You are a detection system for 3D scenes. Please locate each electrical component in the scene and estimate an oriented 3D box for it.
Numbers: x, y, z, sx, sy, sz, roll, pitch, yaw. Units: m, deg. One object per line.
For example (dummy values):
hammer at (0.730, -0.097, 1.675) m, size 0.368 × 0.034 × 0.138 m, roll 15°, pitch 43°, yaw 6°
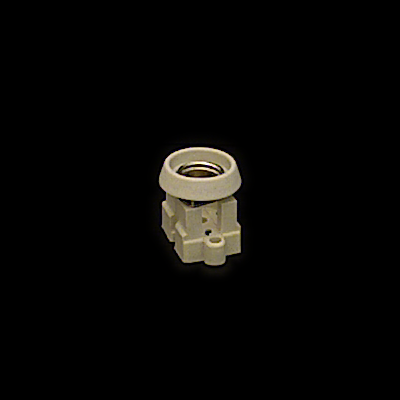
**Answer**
electrical component at (0.000, 0.000, 0.643) m, size 0.049 × 0.056 × 0.065 m, roll -10°, pitch 34°, yaw -19°
